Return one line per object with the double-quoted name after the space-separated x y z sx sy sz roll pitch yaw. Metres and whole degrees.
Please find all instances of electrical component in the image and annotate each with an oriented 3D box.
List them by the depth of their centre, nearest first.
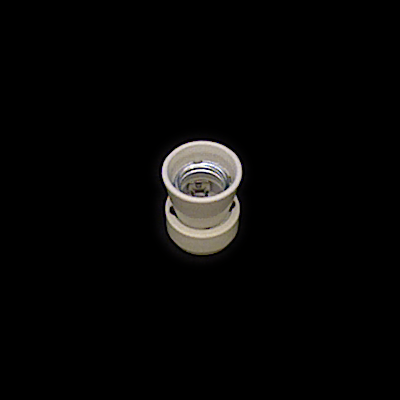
0.000 0.000 0.630 0.045 0.044 0.055 0 -38 -1 "electrical component"
